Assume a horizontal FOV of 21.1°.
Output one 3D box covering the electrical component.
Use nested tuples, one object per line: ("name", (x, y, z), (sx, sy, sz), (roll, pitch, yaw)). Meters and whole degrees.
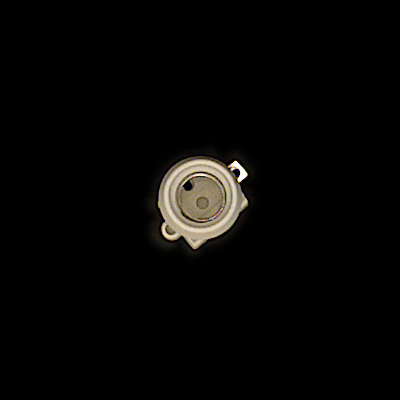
("electrical component", (0.000, 0.000, 0.639), (0.066, 0.048, 0.055), (-41, -3, -3))
